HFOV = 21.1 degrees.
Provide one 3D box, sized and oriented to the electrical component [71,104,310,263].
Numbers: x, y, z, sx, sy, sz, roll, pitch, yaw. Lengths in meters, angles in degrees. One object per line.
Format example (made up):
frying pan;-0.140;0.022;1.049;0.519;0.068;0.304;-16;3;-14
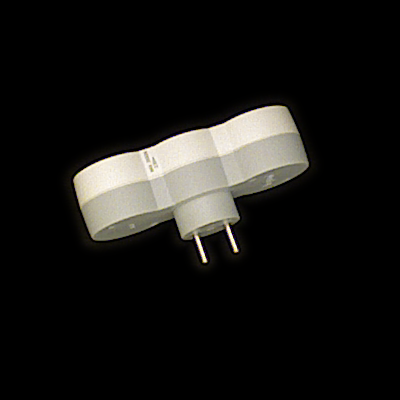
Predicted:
electrical component;0.000;0.000;0.637;0.138;0.074;0.052;-18;-14;-5
